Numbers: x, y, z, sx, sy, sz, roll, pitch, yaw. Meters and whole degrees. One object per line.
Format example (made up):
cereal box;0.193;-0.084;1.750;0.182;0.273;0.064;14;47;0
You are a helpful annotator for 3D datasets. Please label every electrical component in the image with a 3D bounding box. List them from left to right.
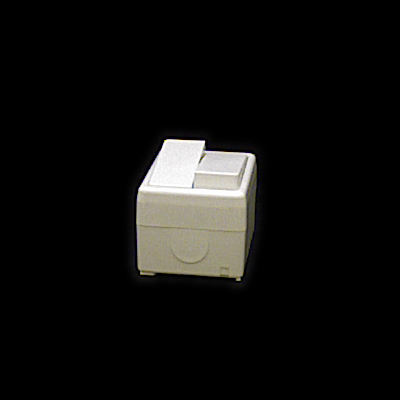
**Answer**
electrical component;0.000;0.000;0.641;0.062;0.061;0.095;4;21;7
